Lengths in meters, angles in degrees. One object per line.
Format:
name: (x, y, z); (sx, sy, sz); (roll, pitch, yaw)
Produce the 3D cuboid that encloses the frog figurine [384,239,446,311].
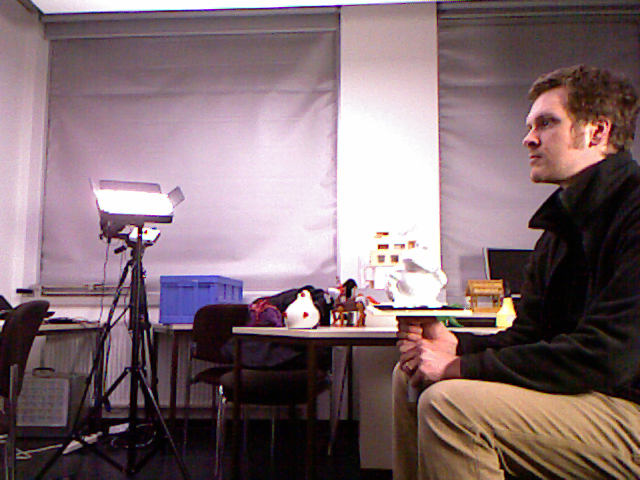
frog figurine: (0.215, 0.077, 1.175); (0.137, 0.160, 0.122); (-1, -2, 18)
